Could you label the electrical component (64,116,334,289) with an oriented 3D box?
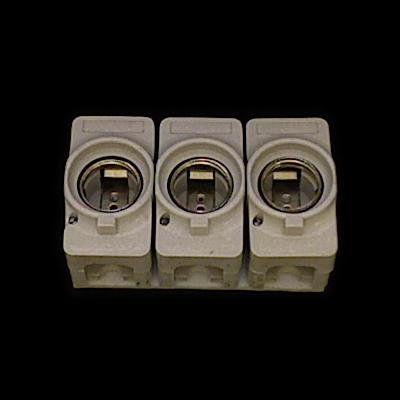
[{"bbox_3d":[0.000,0.000,0.631,0.150,0.089,0.062,0,-27,0],"label":"electrical component"}]
